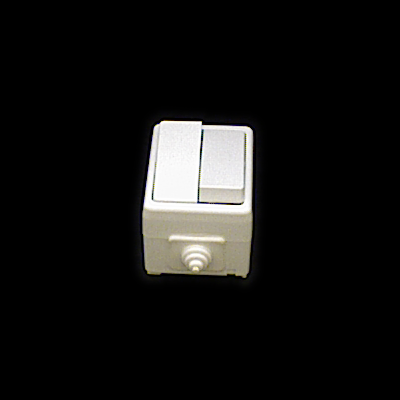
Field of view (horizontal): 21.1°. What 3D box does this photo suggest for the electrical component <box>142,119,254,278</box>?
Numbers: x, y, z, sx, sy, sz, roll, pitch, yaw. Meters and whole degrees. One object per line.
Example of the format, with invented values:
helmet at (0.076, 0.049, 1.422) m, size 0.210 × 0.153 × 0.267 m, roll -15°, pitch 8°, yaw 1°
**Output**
electrical component at (0.000, 0.000, 0.629) m, size 0.062 × 0.061 × 0.095 m, roll 2°, pitch 42°, yaw 2°
